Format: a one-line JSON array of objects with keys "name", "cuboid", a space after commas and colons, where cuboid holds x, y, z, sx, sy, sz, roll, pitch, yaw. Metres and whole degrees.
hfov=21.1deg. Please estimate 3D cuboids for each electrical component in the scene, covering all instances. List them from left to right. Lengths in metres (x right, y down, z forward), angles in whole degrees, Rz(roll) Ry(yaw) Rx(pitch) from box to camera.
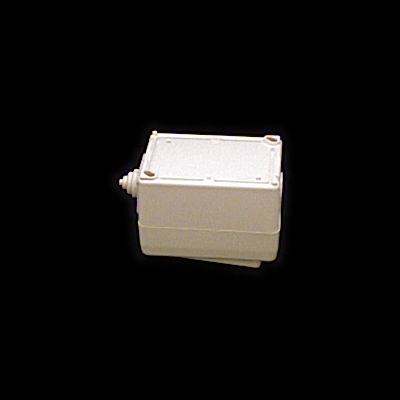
[{"name": "electrical component", "cuboid": [0.000, 0.000, 0.637, 0.096, 0.061, 0.061, 3, 31, 4]}]
